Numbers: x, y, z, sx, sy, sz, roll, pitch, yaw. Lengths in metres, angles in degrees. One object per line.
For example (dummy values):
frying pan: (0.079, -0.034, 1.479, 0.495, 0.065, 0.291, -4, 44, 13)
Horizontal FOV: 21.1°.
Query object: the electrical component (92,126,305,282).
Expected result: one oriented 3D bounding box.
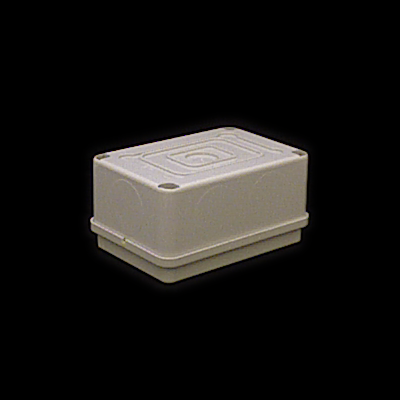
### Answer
electrical component: (0.000, 0.000, 0.639, 0.113, 0.058, 0.077, -16, 27, -37)
